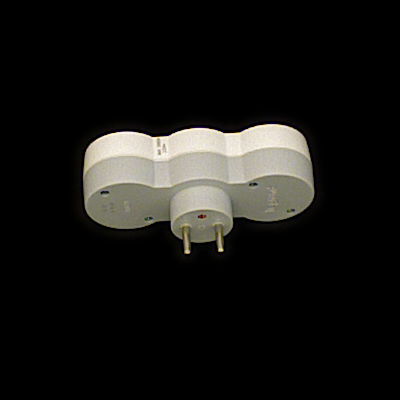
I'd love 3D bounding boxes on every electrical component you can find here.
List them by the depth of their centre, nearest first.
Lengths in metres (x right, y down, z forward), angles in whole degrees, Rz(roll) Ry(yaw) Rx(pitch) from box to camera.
[{"bbox_3d":[0.000,0.000,0.637,0.138,0.073,0.052,-3,-35,-3],"label":"electrical component"}]
